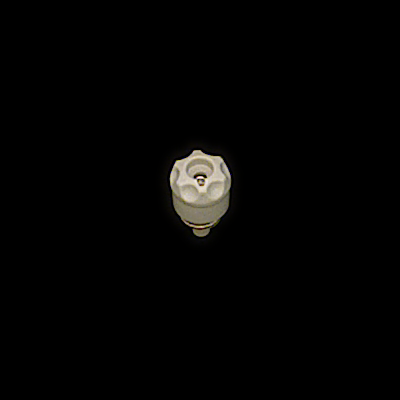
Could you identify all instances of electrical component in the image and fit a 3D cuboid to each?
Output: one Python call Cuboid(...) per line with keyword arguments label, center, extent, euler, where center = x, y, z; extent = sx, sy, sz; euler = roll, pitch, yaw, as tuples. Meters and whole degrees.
Cuboid(label="electrical component", center=(0.000, 0.000, 0.633), extent=(0.035, 0.035, 0.061), euler=(0, -37, 0))
